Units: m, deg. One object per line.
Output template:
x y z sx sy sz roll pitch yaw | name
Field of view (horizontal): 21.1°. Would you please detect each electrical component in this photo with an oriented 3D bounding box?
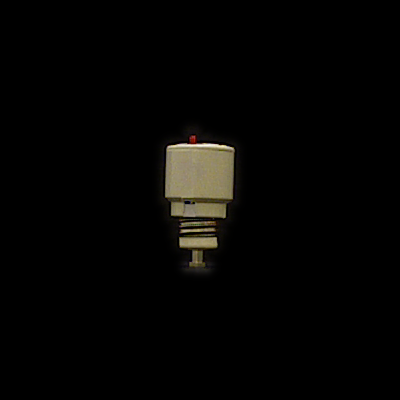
-0.001 0.000 0.647 0.040 0.078 0.040 1 2 0 | electrical component
